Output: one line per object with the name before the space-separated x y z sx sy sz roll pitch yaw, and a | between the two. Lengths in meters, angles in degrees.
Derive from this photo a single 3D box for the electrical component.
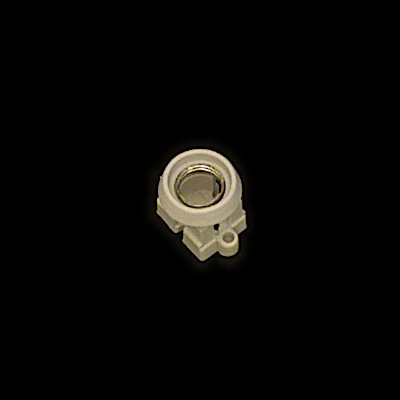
electrical component | 0.000 0.000 0.637 0.049 0.066 0.055 -38 -21 -19
